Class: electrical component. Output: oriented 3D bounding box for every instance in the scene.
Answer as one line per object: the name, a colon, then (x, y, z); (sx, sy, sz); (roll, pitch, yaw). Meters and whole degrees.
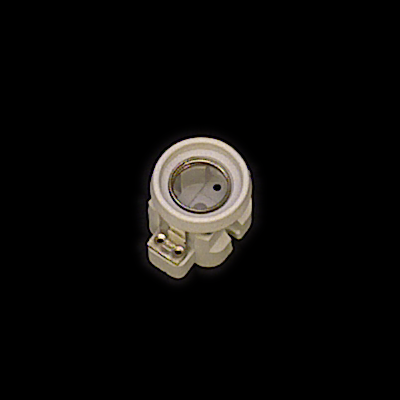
electrical component: (0.000, 0.000, 0.627); (0.058, 0.079, 0.056); (32, -23, 15)
